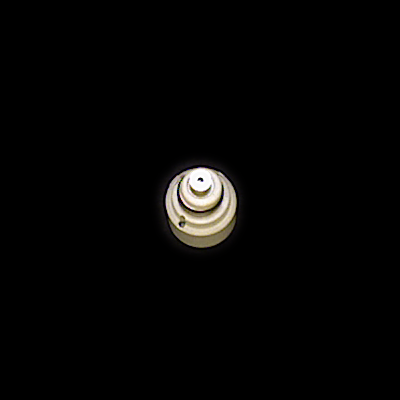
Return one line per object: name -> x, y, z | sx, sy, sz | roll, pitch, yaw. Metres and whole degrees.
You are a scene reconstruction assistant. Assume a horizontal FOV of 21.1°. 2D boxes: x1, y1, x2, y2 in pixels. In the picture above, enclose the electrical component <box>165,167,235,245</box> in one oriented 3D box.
electrical component -> 0.000, 0.000, 0.618 | 0.040, 0.040, 0.078 | 0, -16, 1
